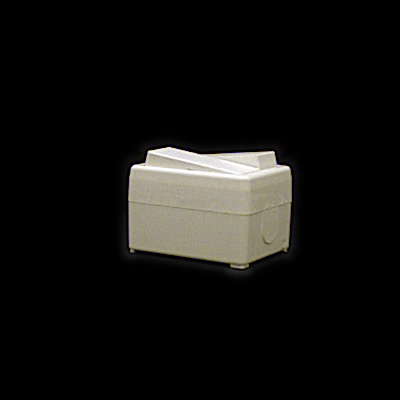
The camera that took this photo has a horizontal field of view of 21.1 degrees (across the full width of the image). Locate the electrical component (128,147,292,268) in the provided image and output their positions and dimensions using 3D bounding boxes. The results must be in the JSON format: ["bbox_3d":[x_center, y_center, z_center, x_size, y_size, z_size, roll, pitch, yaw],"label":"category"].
[{"bbox_3d":[0.000,0.000,0.646,0.096,0.061,0.061,7,12,29],"label":"electrical component"}]
